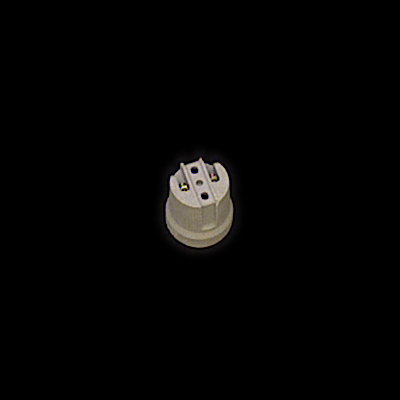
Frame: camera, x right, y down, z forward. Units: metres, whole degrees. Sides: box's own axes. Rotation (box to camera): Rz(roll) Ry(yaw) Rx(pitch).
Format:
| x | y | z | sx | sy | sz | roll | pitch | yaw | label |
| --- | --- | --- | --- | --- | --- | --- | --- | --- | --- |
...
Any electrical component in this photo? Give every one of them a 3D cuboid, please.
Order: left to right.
| x | y | z | sx | sy | sz | roll | pitch | yaw | label |
| --- | --- | --- | --- | --- | --- | --- | --- | --- | --- |
| 0.000 | 0.000 | 0.634 | 0.040 | 0.040 | 0.046 | 0 | -27 | -1 | electrical component |
